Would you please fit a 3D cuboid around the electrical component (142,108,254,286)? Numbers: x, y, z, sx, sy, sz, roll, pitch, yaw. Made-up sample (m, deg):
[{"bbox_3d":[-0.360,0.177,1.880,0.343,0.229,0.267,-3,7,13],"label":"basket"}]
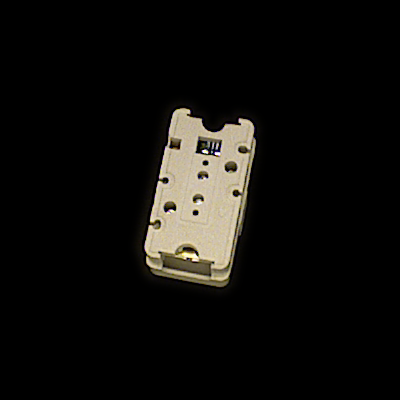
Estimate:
[{"bbox_3d":[0.000,0.000,0.636,0.050,0.090,0.055,10,-16,4],"label":"electrical component"}]
